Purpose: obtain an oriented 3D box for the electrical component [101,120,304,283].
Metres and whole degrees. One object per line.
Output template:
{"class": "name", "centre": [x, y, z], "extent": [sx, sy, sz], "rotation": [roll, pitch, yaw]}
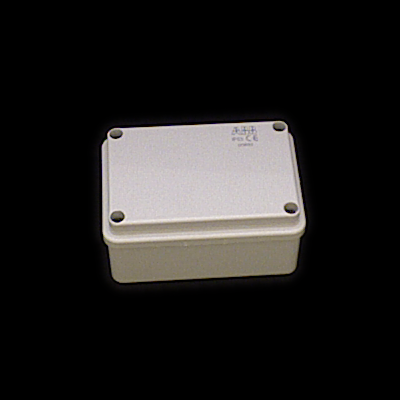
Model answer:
{"class": "electrical component", "centre": [0.000, 0.000, 0.630], "extent": [0.113, 0.077, 0.057], "rotation": [-3, -38, -3]}
